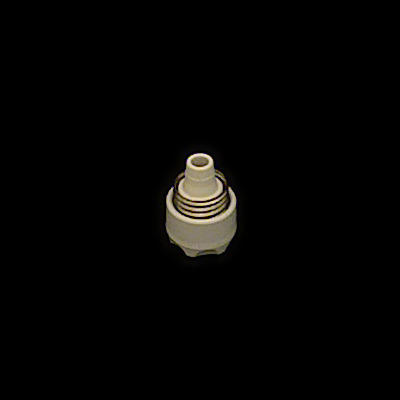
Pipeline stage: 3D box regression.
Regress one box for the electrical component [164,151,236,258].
[{"bbox_3d":[0.000,0.000,0.638,0.043,0.062,0.043,0,41,1],"label":"electrical component"}]
